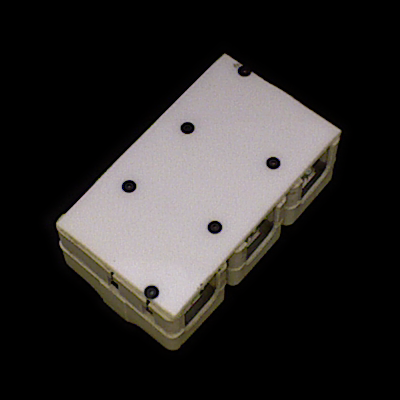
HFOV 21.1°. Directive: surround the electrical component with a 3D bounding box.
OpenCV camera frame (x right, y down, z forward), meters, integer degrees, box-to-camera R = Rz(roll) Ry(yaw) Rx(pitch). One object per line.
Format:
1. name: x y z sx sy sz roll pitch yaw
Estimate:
1. electrical component: 0.000 0.000 0.629 0.089 0.150 0.062 37 -21 17
